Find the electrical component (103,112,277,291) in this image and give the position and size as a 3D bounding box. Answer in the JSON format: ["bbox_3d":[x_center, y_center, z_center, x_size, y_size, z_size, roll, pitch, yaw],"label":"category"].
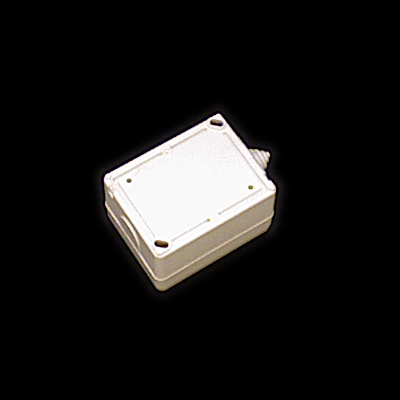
[{"bbox_3d":[0.000,0.000,0.627,0.096,0.062,0.060,-30,-23,-15],"label":"electrical component"}]
